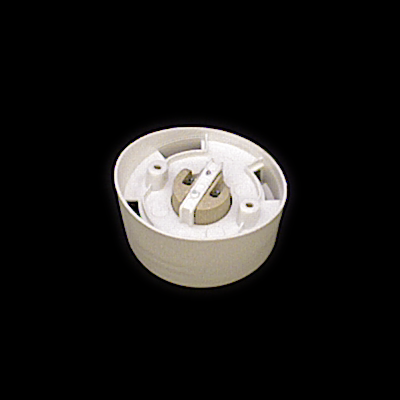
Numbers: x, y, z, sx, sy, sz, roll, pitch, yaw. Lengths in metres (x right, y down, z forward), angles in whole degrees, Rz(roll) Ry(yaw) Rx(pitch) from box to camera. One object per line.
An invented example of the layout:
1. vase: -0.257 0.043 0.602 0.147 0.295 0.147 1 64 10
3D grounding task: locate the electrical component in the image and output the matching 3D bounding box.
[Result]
1. electrical component: 0.000 0.000 0.625 0.099 0.098 0.064 0 -37 -1
